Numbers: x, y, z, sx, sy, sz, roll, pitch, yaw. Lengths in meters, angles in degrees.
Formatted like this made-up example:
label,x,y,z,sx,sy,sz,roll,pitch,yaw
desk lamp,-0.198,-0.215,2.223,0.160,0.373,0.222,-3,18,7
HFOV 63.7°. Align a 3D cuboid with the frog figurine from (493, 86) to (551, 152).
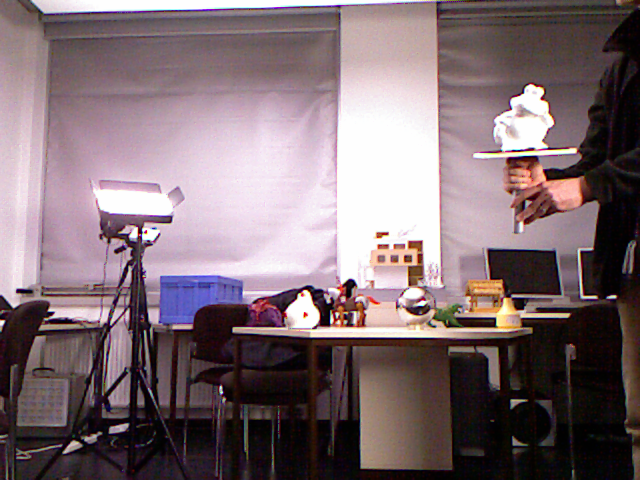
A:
label,x,y,z,sx,sy,sz,roll,pitch,yaw
frog figurine,0.511,-0.308,1.305,0.137,0.158,0.124,3,14,26
